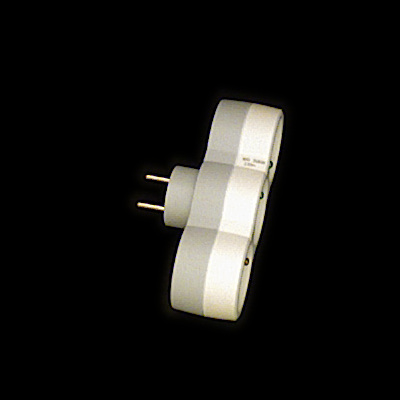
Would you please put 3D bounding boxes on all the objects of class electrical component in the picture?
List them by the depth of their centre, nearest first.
[{"bbox_3d":[0.000,0.000,0.638,0.073,0.138,0.052,11,-26,7],"label":"electrical component"}]
